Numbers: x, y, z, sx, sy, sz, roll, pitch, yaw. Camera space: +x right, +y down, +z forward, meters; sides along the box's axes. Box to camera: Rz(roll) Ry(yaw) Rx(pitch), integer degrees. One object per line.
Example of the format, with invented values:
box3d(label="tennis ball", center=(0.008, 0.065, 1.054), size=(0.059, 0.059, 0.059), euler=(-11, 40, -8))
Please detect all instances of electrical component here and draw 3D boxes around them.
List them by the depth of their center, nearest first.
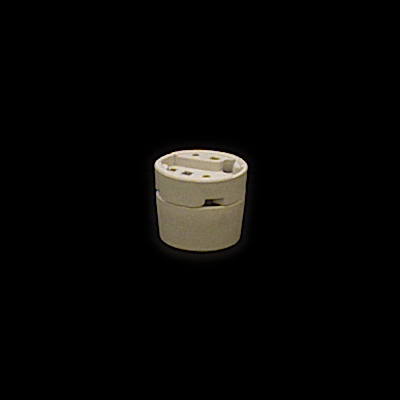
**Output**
box3d(label="electrical component", center=(0.000, 0.000, 0.642), size=(0.055, 0.047, 0.055), euler=(1, 21, 0))
